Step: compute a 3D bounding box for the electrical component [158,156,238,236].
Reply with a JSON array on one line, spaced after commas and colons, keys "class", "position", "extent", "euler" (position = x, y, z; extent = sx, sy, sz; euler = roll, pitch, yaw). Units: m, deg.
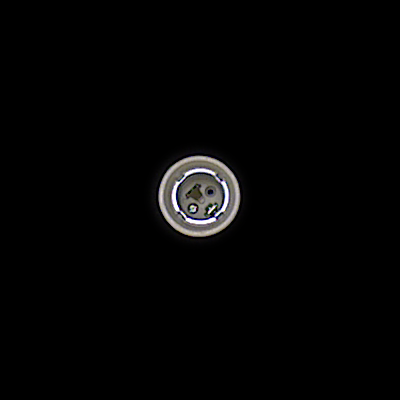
[{"class": "electrical component", "position": [0.000, 0.000, 0.625], "extent": [0.044, 0.044, 0.065], "euler": [0, -5, 1]}]
